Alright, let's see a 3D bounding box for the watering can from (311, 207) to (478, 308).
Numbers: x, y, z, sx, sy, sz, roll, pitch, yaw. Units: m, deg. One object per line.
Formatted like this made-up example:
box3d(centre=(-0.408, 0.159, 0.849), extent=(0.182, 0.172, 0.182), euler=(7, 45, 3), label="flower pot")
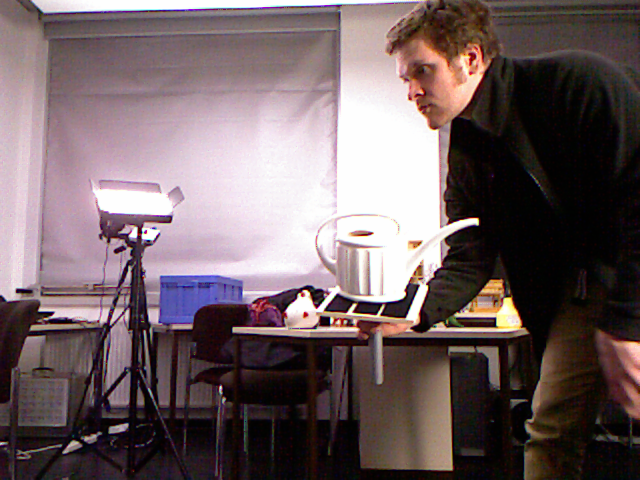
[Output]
box3d(centre=(0.149, 0.041, 1.085), extent=(0.348, 0.221, 0.105), euler=(2, 19, 16), label="watering can")
